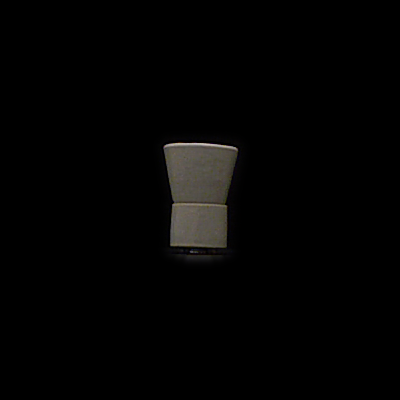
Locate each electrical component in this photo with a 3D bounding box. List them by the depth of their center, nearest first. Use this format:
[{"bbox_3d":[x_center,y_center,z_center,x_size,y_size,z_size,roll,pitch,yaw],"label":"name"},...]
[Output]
[{"bbox_3d":[0.000,0.000,0.652,0.044,0.065,0.044,1,0,0],"label":"electrical component"}]
